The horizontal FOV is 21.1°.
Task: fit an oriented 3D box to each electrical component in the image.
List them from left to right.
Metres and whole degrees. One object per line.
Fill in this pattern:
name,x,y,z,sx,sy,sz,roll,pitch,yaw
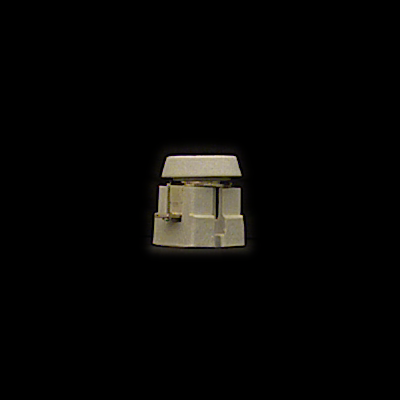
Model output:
electrical component,0.000,0.000,0.655,0.048,0.055,0.067,0,0,45
